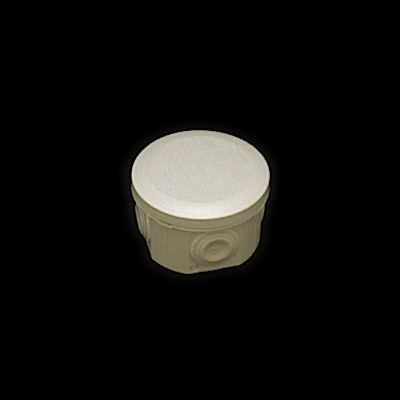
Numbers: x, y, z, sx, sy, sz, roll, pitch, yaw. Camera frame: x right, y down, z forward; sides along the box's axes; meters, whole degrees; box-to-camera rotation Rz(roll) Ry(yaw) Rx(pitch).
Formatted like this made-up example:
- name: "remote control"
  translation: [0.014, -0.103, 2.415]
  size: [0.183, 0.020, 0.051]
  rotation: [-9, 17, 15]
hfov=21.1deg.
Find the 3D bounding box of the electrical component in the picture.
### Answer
- name: "electrical component"
  translation: [0.000, 0.000, 0.632]
  size: [0.080, 0.051, 0.080]
  rotation: [0, 42, 0]
